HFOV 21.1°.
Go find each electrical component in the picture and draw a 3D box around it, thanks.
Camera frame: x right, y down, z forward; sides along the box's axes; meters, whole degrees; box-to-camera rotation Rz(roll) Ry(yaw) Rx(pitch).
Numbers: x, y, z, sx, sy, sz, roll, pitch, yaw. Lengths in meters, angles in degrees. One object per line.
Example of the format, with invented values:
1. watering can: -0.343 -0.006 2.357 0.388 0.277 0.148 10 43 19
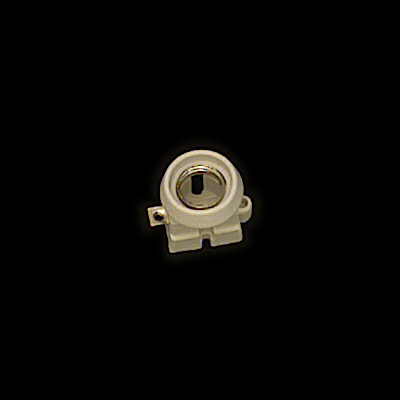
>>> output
1. electrical component: 0.000 0.000 0.636 0.067 0.048 0.055 -11 -28 -5
